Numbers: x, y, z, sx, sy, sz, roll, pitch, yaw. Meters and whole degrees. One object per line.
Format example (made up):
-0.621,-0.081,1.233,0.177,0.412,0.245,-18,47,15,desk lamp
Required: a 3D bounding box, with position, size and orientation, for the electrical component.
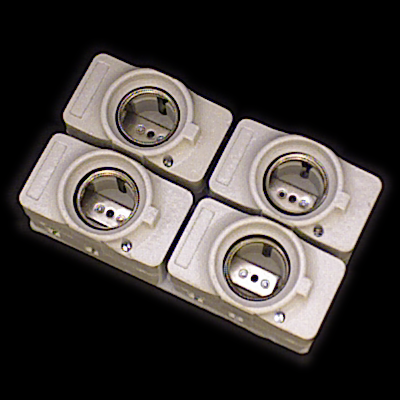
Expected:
0.000,0.000,0.626,0.186,0.106,0.060,25,-15,7,electrical component
